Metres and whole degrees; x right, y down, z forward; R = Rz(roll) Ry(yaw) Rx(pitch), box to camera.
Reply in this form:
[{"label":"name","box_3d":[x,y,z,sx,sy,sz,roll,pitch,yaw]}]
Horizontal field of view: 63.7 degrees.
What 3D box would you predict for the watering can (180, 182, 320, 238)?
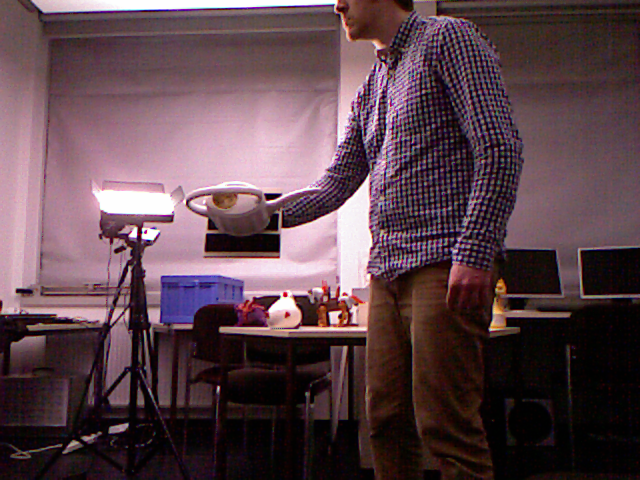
[{"label":"watering can","box_3d":[-0.171,-0.084,1.309,0.348,0.106,0.221,-2,-21,1]}]
